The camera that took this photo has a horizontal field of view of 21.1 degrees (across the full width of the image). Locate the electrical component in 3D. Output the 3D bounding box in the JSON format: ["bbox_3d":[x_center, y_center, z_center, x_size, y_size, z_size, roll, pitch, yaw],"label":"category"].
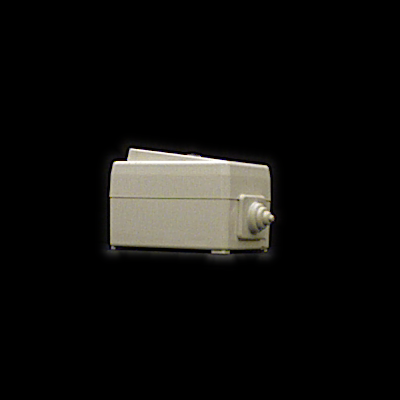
[{"bbox_3d":[0.000,0.000,0.648,0.096,0.061,0.062,1,0,29],"label":"electrical component"}]
